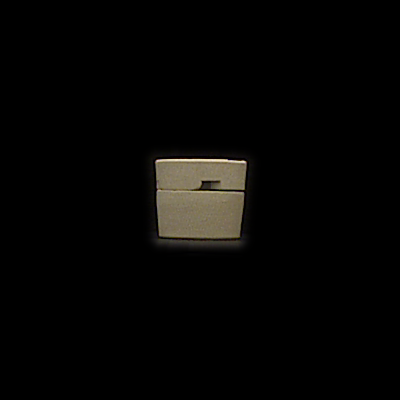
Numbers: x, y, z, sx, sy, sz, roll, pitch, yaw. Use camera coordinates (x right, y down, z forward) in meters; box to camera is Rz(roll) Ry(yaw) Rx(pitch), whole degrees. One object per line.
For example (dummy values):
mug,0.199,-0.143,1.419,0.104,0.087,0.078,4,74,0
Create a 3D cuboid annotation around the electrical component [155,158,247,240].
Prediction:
electrical component,0.000,0.000,0.650,0.055,0.047,0.055,2,1,0
